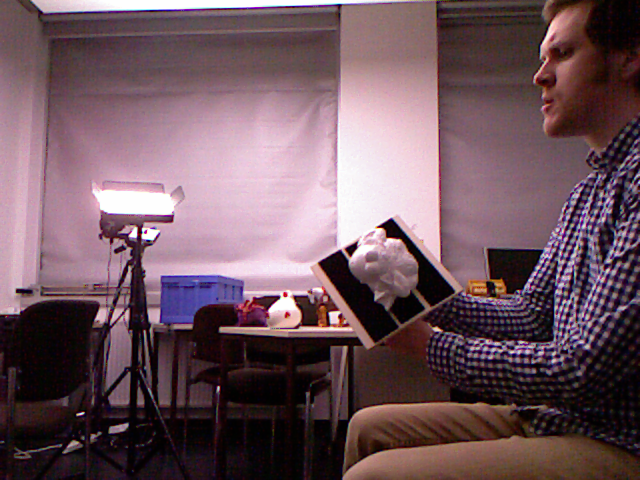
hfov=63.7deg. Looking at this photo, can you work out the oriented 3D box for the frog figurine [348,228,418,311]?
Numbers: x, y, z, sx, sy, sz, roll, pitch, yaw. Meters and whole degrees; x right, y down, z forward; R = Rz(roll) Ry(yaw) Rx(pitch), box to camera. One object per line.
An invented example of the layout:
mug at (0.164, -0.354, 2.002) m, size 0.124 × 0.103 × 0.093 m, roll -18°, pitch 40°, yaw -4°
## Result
frog figurine at (0.106, 0.037, 0.880) m, size 0.123 × 0.140 × 0.156 m, roll -17°, pitch -29°, yaw -2°
